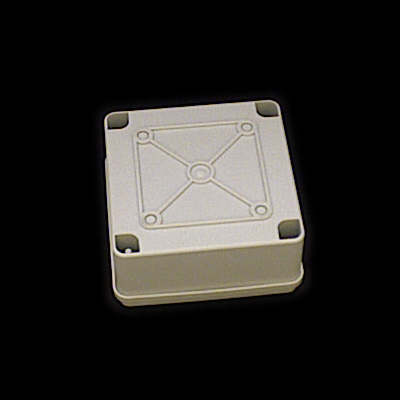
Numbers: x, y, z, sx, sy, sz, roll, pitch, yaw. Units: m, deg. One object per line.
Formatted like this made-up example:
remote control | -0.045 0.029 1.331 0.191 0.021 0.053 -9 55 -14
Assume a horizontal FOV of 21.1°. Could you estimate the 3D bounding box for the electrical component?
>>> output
electrical component | 0.000 0.000 0.627 0.109 0.108 0.056 -5 -37 -4
